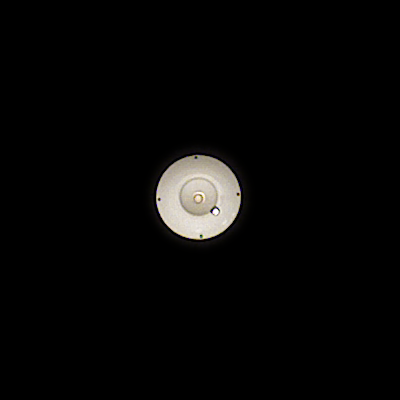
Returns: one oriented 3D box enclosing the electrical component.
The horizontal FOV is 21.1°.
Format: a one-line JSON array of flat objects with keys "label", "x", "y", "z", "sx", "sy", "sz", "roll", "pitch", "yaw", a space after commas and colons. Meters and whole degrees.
[{"label": "electrical component", "x": 0.000, "y": 0.000, "z": 0.635, "sx": 0.048, "sy": 0.048, "sz": 0.062, "roll": 0, "pitch": -6, "yaw": 0}]
